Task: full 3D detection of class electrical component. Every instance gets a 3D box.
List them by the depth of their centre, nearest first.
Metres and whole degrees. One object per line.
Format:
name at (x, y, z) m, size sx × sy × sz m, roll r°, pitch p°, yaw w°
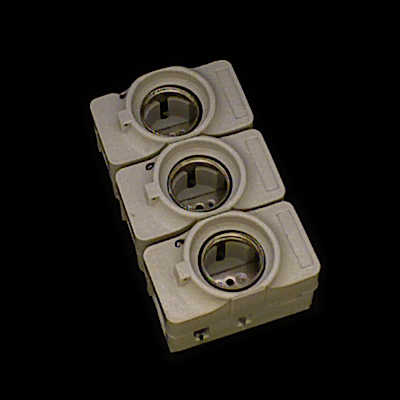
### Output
electrical component at (0.000, 0.000, 0.631) m, size 0.090 × 0.149 × 0.062 m, roll -18°, pitch -26°, yaw -8°
